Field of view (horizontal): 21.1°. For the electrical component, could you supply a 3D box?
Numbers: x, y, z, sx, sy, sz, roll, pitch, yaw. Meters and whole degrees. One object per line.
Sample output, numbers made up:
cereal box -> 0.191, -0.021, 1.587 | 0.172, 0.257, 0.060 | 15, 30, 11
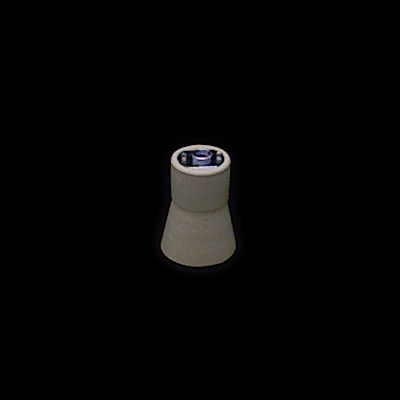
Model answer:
electrical component -> 0.000, 0.000, 0.631 | 0.044, 0.066, 0.044 | 1, 32, -1
